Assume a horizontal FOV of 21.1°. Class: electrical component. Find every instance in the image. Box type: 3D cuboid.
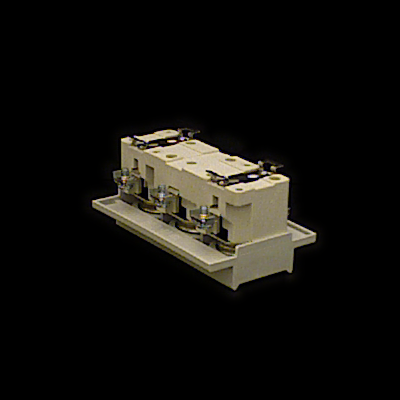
[{"bbox_3d":[0.000,0.000,0.648,0.079,0.064,0.119,-14,26,-35],"label":"electrical component"}]
